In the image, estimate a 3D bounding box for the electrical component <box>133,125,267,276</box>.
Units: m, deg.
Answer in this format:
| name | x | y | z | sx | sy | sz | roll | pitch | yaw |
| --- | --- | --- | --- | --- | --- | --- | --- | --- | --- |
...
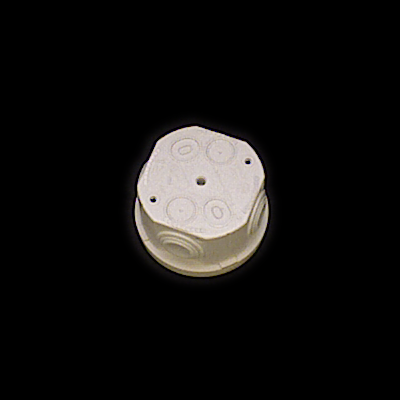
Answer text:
| name | x | y | z | sx | sy | sz | roll | pitch | yaw |
| --- | --- | --- | --- | --- | --- | --- | --- | --- | --- |
| electrical component | 0.000 | 0.000 | 0.631 | 0.080 | 0.080 | 0.050 | 0 | -27 | 1 |
